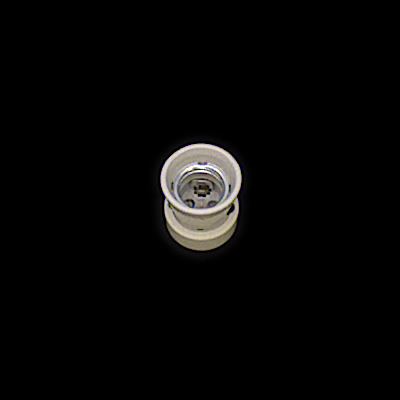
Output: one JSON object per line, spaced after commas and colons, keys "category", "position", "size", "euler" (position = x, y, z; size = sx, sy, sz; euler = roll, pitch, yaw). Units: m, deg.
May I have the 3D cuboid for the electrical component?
{"category": "electrical component", "position": [0.000, 0.000, 0.628], "size": [0.045, 0.045, 0.055], "euler": [0, -28, -1]}
